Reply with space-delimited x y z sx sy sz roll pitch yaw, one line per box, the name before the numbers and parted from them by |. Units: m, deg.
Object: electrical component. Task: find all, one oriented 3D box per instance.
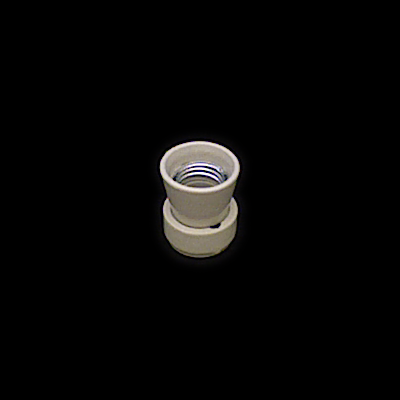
electrical component | 0.000 0.000 0.630 0.045 0.055 0.044 0 42 0
